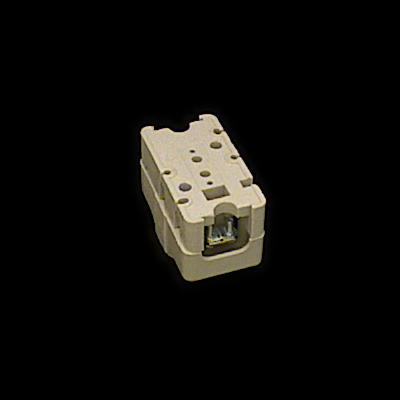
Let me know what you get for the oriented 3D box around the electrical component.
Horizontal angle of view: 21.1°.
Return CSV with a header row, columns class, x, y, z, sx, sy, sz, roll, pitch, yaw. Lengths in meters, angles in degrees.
class,x,y,z,sx,sy,sz,roll,pitch,yaw
electrical component,0.000,0.000,0.639,0.050,0.056,0.088,-13,45,-15
